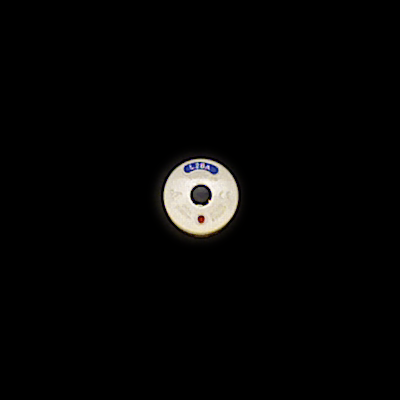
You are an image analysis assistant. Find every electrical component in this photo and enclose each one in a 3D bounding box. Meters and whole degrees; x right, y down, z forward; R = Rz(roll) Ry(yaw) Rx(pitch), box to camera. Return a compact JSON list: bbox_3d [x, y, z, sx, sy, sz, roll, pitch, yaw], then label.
[{"bbox_3d":[0.000,0.000,0.617,0.040,0.040,0.078,0,-5,1],"label":"electrical component"}]
